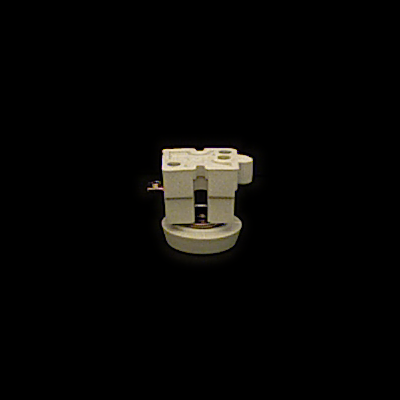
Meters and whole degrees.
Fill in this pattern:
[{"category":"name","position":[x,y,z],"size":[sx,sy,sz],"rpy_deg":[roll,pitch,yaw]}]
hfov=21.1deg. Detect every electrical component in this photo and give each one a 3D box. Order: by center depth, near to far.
[{"category":"electrical component","position":[0.000,0.000,0.648],"size":[0.066,0.056,0.048],"rpy_deg":[0,23,-1]}]
